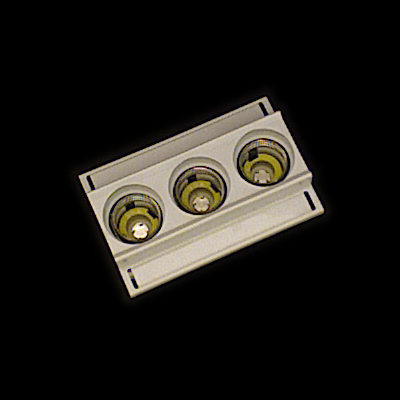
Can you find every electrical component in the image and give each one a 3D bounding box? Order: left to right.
[{"bbox_3d":[0.000,0.000,0.637,0.122,0.078,0.063,-23,-17,-6],"label":"electrical component"}]
